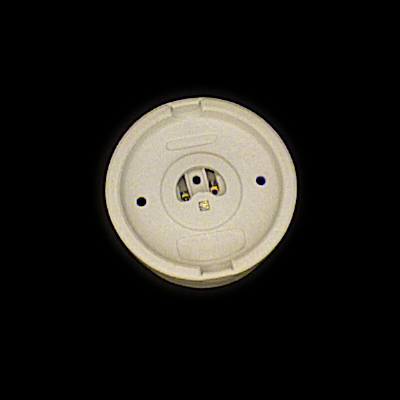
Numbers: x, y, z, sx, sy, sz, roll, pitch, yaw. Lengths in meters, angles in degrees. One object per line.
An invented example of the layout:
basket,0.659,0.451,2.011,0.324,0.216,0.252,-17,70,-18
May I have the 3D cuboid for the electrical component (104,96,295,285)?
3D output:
electrical component,0.000,0.000,0.633,0.108,0.108,0.060,0,-17,0
